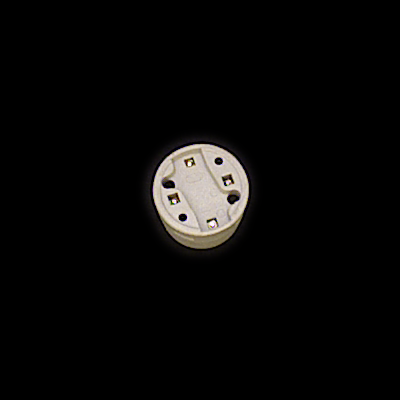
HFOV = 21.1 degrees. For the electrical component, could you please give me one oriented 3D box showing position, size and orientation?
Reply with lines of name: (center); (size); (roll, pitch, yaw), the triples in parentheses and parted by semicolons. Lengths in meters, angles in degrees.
electrical component: (0.000, 0.000, 0.634); (0.055, 0.056, 0.047); (0, -17, 1)
